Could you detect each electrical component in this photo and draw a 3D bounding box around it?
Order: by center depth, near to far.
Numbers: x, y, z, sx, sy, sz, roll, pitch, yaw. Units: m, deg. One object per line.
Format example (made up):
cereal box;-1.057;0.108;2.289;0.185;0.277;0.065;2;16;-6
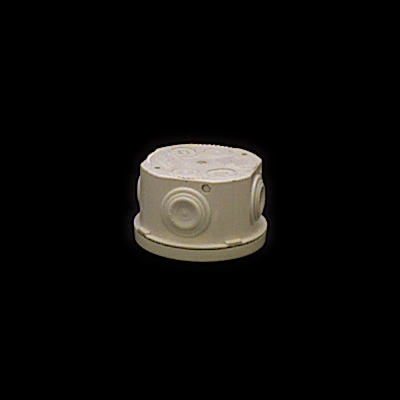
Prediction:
electrical component;0.000;0.000;0.642;0.080;0.051;0.079;1;21;0
